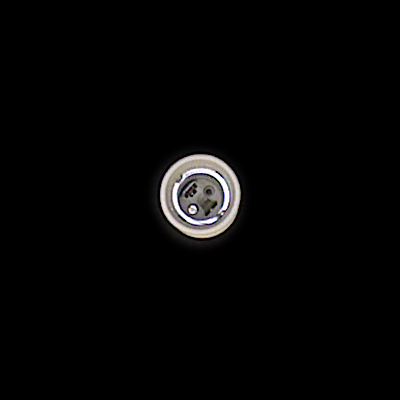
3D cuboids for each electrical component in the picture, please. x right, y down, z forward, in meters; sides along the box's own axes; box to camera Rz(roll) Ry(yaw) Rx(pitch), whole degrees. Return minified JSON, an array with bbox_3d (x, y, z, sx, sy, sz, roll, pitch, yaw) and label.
[{"bbox_3d":[0.000,0.000,0.629,0.045,0.045,0.055,0,-7,1],"label":"electrical component"}]
